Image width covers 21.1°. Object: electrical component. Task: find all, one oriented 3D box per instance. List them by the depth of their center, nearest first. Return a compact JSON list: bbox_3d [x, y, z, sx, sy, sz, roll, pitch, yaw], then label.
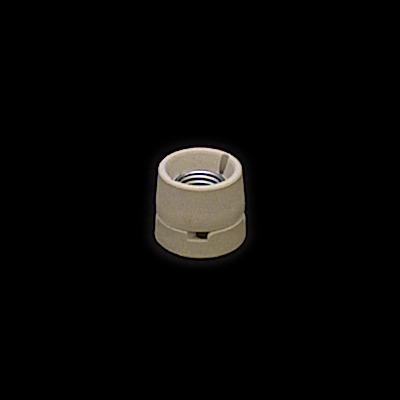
[{"bbox_3d":[0.000,0.000,0.637,0.055,0.047,0.055,0,32,0],"label":"electrical component"}]
